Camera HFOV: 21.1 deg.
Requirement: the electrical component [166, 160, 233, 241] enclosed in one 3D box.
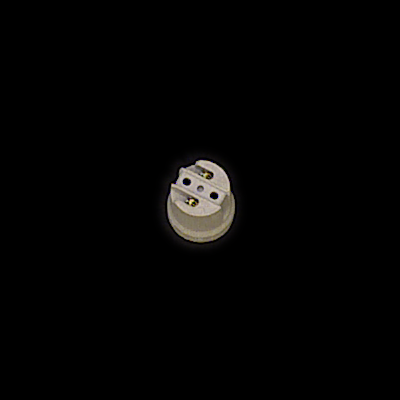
[{"bbox_3d":[0.000,0.000,0.633,0.040,0.040,0.046,0,-17,0],"label":"electrical component"}]
